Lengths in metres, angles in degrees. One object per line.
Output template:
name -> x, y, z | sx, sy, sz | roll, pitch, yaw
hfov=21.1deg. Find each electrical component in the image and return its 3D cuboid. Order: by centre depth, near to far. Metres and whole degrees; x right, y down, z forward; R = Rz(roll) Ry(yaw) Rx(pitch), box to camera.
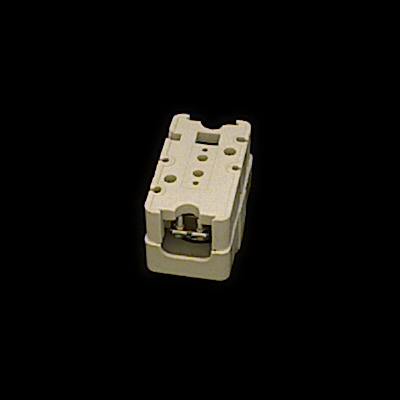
electrical component -> 0.000, 0.000, 0.639 | 0.050, 0.056, 0.089 | 7, 42, 8
